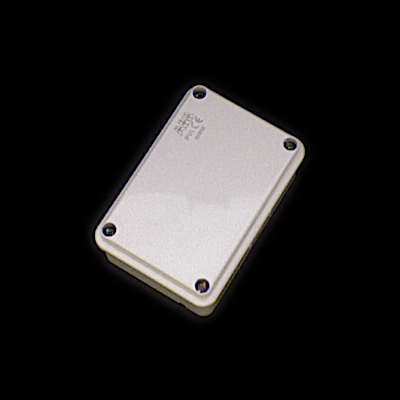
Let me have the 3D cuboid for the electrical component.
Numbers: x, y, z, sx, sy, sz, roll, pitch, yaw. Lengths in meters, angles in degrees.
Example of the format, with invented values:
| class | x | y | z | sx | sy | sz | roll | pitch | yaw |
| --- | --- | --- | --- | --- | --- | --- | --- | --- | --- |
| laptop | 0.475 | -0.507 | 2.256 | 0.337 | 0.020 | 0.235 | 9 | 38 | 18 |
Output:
| class | x | y | z | sx | sy | sz | roll | pitch | yaw |
| --- | --- | --- | --- | --- | --- | --- | --- | --- | --- |
| electrical component | 0.000 | 0.000 | 0.627 | 0.078 | 0.113 | 0.057 | 30 | -14 | 9 |
